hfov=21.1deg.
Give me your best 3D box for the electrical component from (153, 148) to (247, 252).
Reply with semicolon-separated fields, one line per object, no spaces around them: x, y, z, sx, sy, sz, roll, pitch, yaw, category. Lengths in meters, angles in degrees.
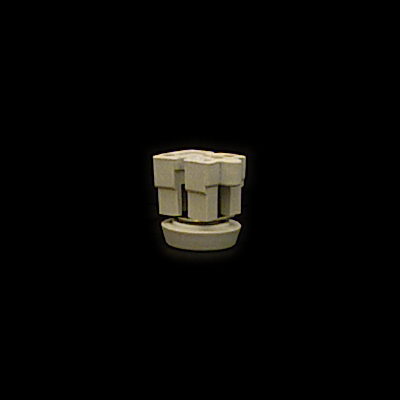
0.000;0.000;0.652;0.065;0.056;0.048;10;16;40;electrical component
